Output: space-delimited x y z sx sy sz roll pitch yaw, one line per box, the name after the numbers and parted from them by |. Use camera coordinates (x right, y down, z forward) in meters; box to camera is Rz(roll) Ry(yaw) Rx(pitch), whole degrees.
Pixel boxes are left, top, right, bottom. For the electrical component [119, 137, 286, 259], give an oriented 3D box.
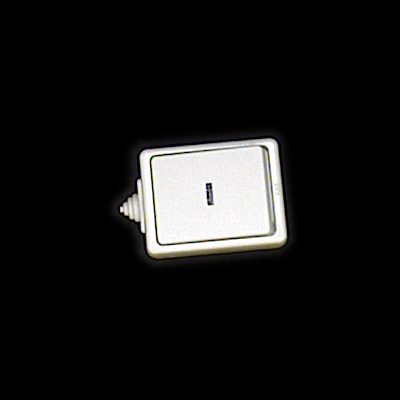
0.000 0.000 0.627 0.096 0.062 0.061 -5 -7 0 | electrical component
